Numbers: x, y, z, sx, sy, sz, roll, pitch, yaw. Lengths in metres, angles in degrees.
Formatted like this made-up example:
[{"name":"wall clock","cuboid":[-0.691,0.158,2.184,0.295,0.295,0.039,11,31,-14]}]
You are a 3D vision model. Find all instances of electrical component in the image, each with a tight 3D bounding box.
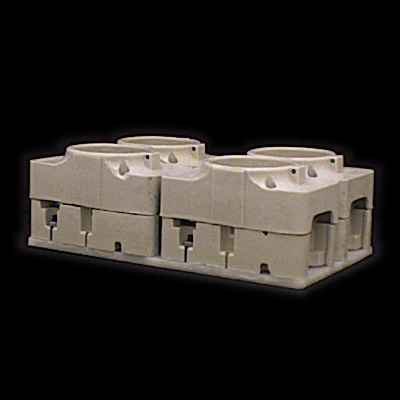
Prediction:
[{"name":"electrical component","cuboid":[0.000,0.000,0.645,0.185,0.061,0.105,7,12,29]}]
